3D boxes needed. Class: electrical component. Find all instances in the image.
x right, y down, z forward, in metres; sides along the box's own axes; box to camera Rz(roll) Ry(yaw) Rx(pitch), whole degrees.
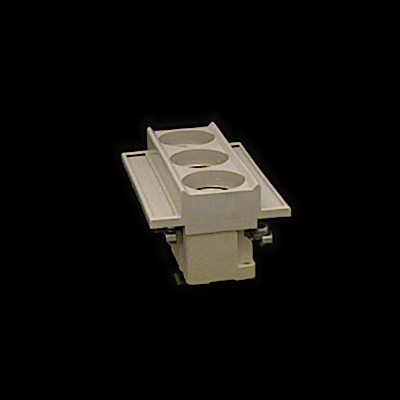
[{"bbox_3d":[0.000,0.000,0.650,0.079,0.064,0.119,-5,22,-10],"label":"electrical component"}]
